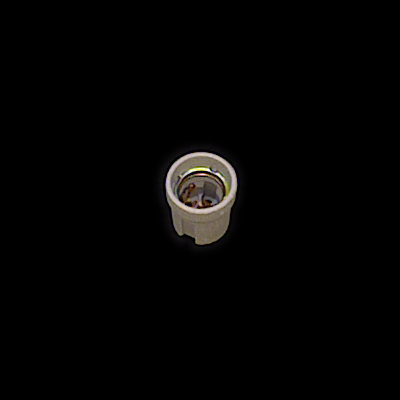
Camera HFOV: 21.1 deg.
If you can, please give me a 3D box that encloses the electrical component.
[{"bbox_3d":[0.000,0.000,0.629,0.040,0.040,0.046,0,-28,0],"label":"electrical component"}]
